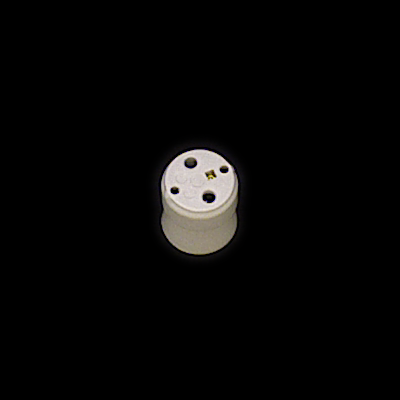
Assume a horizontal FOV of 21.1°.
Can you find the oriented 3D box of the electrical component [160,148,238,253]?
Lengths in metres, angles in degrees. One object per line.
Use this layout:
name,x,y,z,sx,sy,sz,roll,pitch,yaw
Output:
electrical component,0.000,0.000,0.628,0.045,0.045,0.055,0,-26,0
